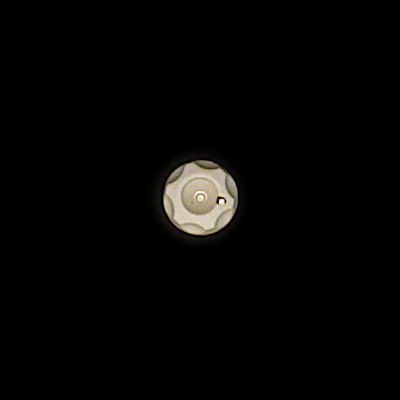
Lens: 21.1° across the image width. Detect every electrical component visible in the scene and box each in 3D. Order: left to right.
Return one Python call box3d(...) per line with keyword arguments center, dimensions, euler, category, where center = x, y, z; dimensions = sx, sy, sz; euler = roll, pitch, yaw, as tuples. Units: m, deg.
box3d(center=(0.000, 0.000, 0.635), dimensions=(0.043, 0.043, 0.062), euler=(0, -5, 2), category="electrical component")
